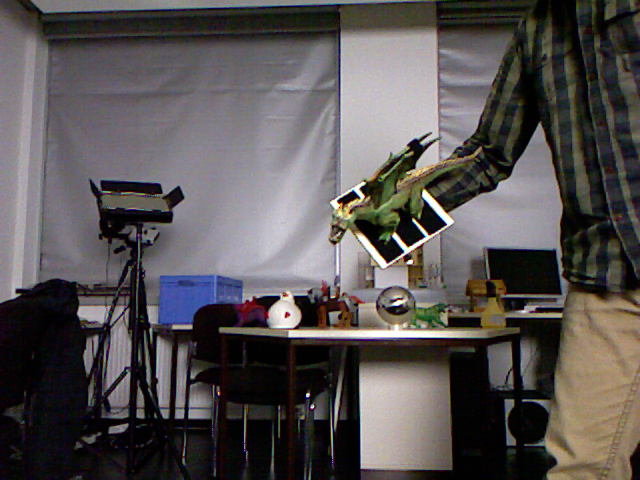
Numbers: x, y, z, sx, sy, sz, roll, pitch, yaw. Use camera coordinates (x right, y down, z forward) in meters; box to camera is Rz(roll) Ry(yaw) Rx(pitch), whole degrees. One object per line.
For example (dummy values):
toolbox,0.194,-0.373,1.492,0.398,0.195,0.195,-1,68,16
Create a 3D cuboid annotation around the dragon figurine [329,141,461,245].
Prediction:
dragon figurine,0.170,-0.117,1.074,0.415,0.123,0.239,-38,-15,-15
